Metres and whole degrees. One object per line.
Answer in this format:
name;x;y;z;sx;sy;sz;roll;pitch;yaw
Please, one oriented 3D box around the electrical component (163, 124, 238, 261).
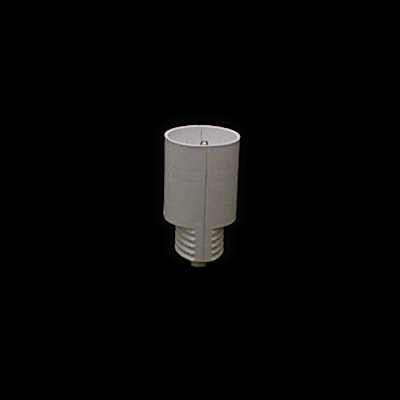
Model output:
electrical component;0.000;0.000;0.633;0.043;0.082;0.042;0;22;0
